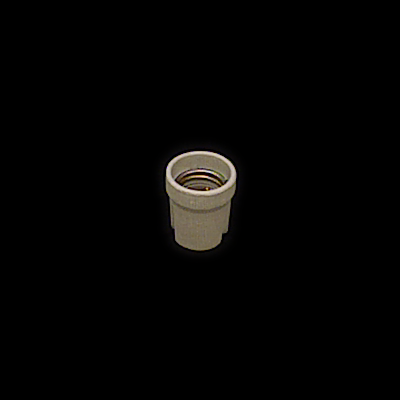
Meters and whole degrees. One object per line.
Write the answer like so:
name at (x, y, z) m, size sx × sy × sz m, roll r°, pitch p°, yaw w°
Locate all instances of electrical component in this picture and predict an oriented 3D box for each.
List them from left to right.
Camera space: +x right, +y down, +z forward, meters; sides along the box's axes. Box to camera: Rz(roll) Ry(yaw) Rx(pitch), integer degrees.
electrical component at (0.000, 0.000, 0.633) m, size 0.040 × 0.047 × 0.039 m, roll 1°, pitch 42°, yaw 0°
